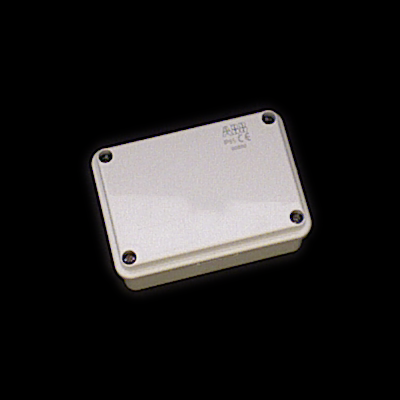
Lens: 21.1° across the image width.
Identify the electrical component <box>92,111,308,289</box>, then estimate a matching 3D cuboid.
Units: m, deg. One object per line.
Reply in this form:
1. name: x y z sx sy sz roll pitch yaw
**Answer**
1. electrical component: 0.000 0.000 0.628 0.113 0.078 0.057 -14 -16 -4
